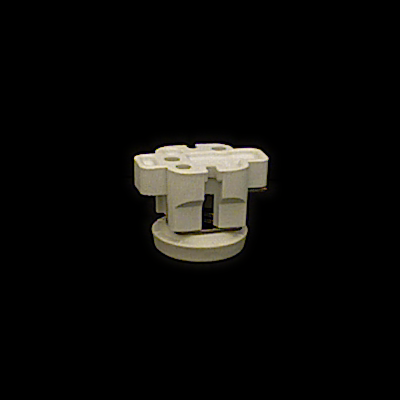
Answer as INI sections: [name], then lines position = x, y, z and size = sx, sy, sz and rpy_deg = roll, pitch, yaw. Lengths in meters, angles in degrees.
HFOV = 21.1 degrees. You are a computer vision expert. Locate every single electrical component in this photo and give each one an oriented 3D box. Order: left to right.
[electrical component]
position = 0.000, 0.000, 0.648
size = 0.079, 0.057, 0.057
rpy_deg = -4, 22, -17
